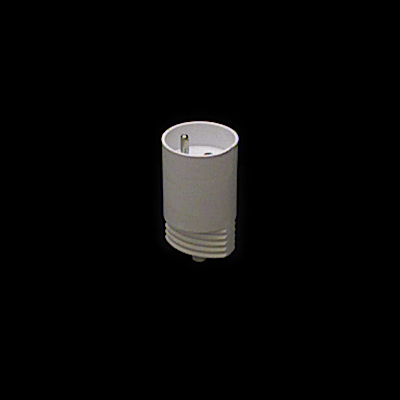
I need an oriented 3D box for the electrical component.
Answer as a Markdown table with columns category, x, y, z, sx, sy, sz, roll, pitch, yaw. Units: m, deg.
| category | x | y | z | sx | sy | sz | roll | pitch | yaw |
| --- | --- | --- | --- | --- | --- | --- | --- | --- | --- |
| electrical component | 0.000 | 0.000 | 0.627 | 0.043 | 0.082 | 0.042 | 1 | 31 | 0 |
